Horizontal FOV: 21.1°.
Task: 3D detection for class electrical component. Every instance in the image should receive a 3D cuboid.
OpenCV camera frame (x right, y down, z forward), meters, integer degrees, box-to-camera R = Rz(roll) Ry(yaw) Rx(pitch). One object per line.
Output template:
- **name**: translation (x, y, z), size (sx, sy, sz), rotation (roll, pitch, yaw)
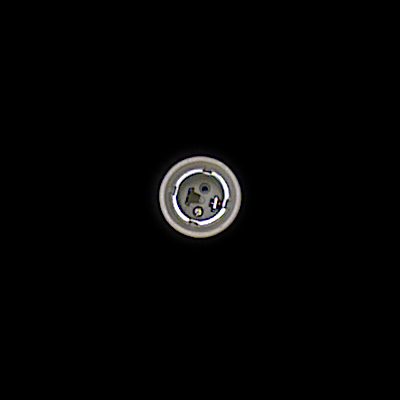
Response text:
- **electrical component**: translation (0.000, 0.000, 0.624), size (0.044, 0.044, 0.065), rotation (0, -5, 1)
